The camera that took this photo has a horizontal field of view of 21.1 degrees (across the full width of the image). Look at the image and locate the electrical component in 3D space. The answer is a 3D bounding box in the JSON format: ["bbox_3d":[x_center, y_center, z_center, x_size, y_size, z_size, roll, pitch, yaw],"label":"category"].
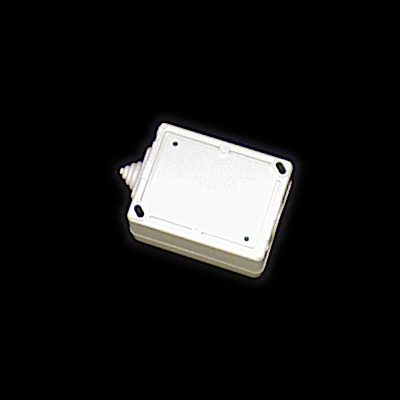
[{"bbox_3d":[0.000,0.000,0.626,0.096,0.062,0.060,17,-16,5],"label":"electrical component"}]
